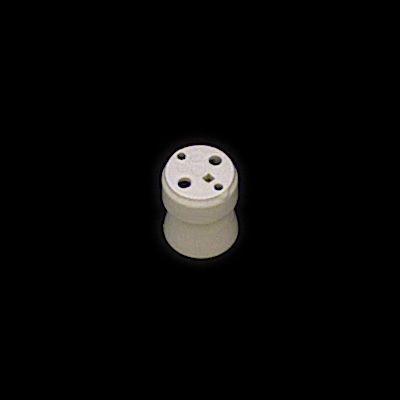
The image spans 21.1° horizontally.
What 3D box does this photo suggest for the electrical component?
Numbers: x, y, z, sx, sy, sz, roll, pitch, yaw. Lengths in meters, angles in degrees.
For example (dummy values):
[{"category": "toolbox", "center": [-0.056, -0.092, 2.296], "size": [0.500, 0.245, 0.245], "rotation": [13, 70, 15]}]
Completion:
[{"category": "electrical component", "center": [0.000, 0.000, 0.629], "size": [0.045, 0.044, 0.055], "rotation": [0, -38, 0]}]
